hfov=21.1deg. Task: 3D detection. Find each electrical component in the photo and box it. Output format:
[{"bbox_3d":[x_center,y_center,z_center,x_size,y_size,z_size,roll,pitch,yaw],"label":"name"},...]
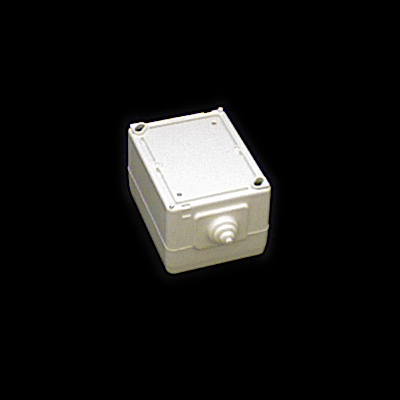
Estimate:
[{"bbox_3d":[0.000,0.000,0.626,0.061,0.061,0.096,-12,43,-15],"label":"electrical component"}]
